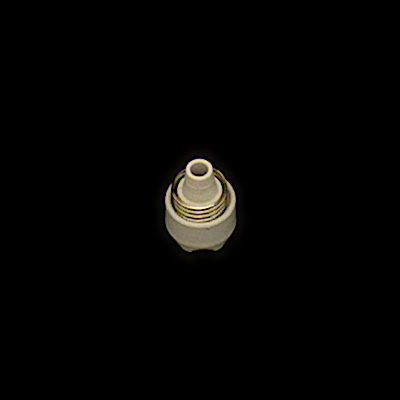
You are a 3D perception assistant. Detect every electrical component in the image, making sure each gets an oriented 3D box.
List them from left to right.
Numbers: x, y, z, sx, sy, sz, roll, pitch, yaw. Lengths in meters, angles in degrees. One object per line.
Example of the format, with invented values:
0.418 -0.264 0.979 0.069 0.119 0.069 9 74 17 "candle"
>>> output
0.000 0.000 0.635 0.043 0.043 0.062 0 -36 1 "electrical component"
